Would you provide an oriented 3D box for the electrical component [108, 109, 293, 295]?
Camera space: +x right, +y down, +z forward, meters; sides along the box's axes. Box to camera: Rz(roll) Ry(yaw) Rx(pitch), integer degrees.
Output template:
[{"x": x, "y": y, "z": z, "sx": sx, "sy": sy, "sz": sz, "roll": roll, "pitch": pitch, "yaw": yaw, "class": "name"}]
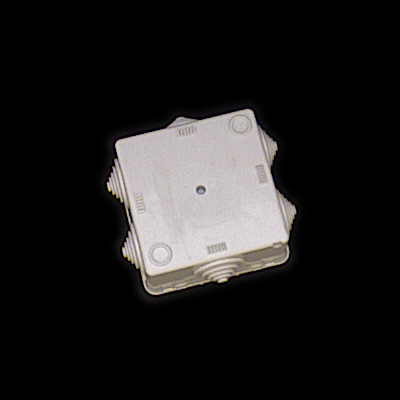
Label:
[{"x": 0.000, "y": 0.000, "z": 0.631, "sx": 0.100, "sy": 0.100, "sz": 0.048, "roll": -14, "pitch": -16, "yaw": -4, "class": "electrical component"}]
